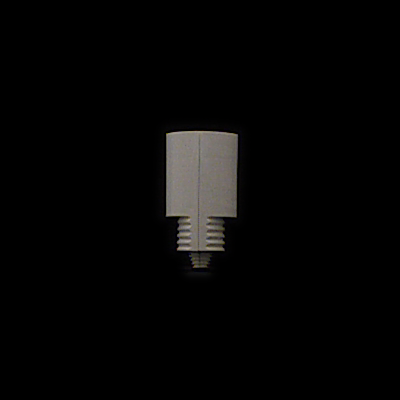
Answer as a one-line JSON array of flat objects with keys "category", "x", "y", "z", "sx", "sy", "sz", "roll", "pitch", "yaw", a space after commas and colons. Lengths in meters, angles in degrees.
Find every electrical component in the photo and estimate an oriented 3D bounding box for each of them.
[{"category": "electrical component", "x": 0.000, "y": 0.000, "z": 0.651, "sx": 0.043, "sy": 0.081, "sz": 0.043, "roll": 2, "pitch": 1, "yaw": 0}]
